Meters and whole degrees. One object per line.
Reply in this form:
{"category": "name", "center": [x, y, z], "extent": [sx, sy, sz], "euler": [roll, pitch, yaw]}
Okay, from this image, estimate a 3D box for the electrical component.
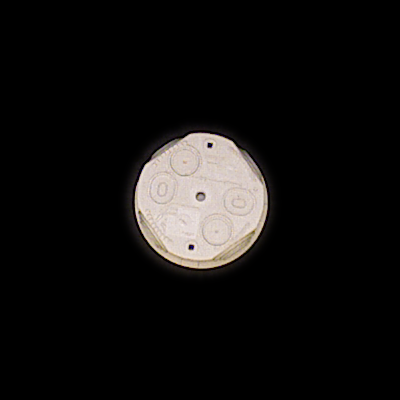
{"category": "electrical component", "center": [0.000, 0.000, 0.633], "extent": [0.080, 0.080, 0.050], "euler": [0, -6, 0]}
